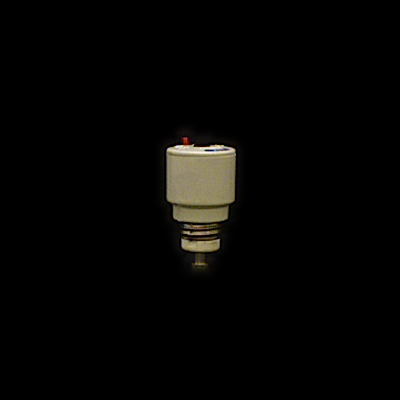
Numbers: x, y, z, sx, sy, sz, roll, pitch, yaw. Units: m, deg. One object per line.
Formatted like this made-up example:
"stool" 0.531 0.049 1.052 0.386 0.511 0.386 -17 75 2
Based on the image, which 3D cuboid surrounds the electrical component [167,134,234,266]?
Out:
"electrical component" 0.000 0.000 0.645 0.040 0.079 0.040 1 11 0
